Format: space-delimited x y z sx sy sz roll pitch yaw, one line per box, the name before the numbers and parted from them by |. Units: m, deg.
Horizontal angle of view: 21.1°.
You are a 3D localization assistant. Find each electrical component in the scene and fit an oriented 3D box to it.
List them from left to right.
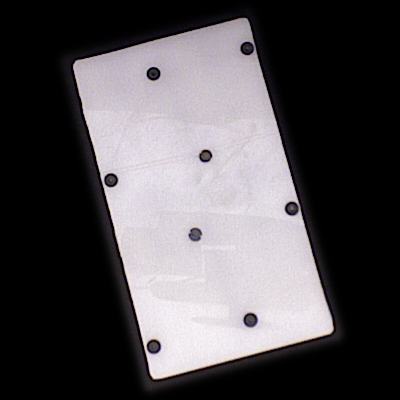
electrical component | 0.000 0.000 0.626 0.105 0.186 0.060 -15 -7 -1
